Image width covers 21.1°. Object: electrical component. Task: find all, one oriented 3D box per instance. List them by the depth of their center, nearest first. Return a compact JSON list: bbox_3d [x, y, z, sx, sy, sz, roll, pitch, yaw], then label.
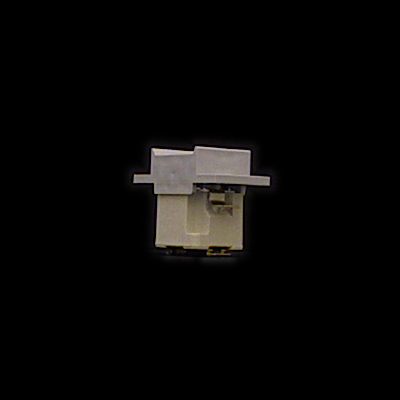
[{"bbox_3d":[0.000,0.000,0.651,0.042,0.064,0.080,-1,2,-38],"label":"electrical component"}]
